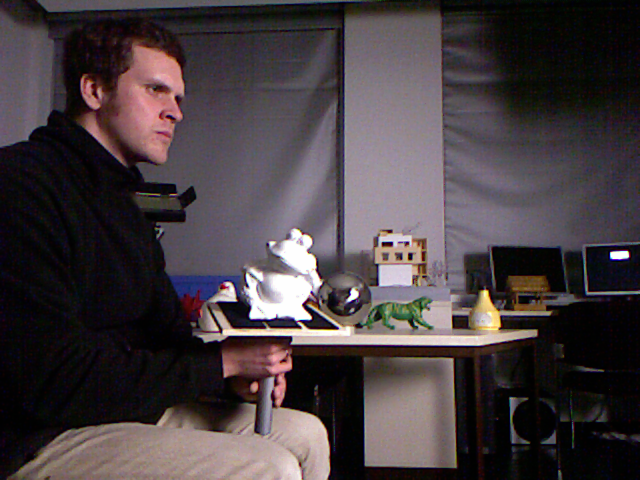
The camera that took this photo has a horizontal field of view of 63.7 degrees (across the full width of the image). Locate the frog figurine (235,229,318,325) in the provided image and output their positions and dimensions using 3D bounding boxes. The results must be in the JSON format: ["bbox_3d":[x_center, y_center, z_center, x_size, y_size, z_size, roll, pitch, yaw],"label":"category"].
[{"bbox_3d":[-0.070,0.056,0.873,0.137,0.159,0.123,8,7,2],"label":"frog figurine"}]
